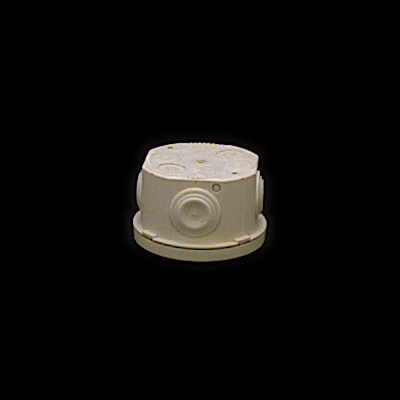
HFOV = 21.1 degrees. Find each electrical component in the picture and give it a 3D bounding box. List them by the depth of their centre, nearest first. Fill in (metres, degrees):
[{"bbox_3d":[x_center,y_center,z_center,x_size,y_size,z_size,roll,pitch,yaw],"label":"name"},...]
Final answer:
[{"bbox_3d":[0.000,0.000,0.640,0.080,0.051,0.079,1,21,0],"label":"electrical component"}]
